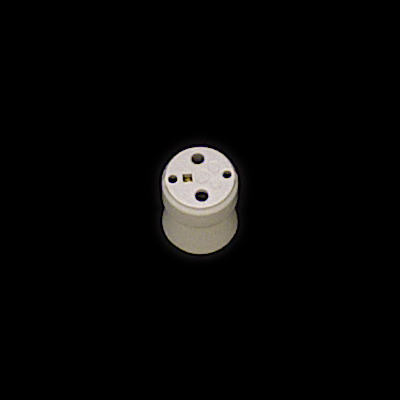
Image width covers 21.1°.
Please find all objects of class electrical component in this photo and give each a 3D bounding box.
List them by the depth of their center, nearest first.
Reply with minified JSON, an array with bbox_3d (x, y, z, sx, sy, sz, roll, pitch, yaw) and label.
[{"bbox_3d":[0.000,0.000,0.629,0.045,0.045,0.055,0,-27,-1],"label":"electrical component"}]
